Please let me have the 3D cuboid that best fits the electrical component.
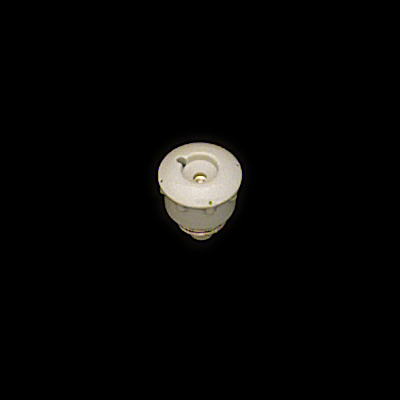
[{"bbox_3d":[0.000,0.000,0.634,0.048,0.048,0.062,0,-37,0],"label":"electrical component"}]
